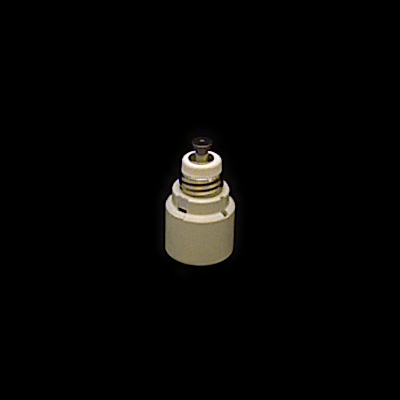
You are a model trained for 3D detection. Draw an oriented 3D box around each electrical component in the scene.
[{"bbox_3d":[0.000,0.000,0.631,0.040,0.079,0.039,2,31,-1],"label":"electrical component"}]
